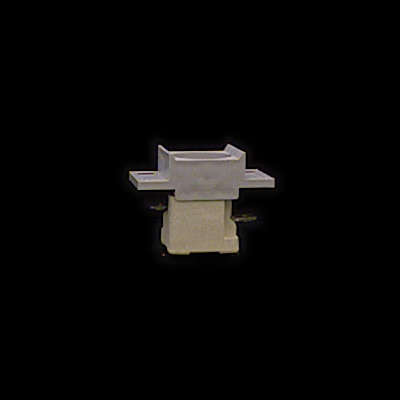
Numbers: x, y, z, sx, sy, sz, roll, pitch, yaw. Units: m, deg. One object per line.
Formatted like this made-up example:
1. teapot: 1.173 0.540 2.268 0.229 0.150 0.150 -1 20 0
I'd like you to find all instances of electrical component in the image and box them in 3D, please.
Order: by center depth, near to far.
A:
1. electrical component: 0.000 0.000 0.645 0.081 0.064 0.042 -1 10 -11
